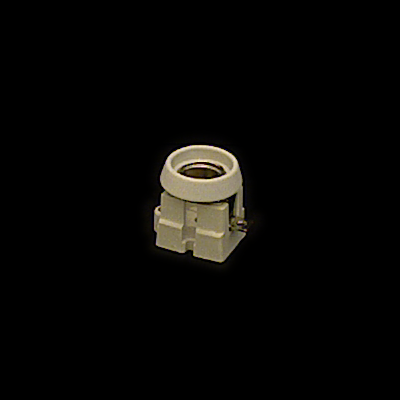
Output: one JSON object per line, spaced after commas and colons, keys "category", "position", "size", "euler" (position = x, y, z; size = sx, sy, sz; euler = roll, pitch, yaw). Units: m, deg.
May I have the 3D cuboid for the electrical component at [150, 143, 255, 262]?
{"category": "electrical component", "position": [0.000, 0.000, 0.643], "size": [0.066, 0.056, 0.048], "euler": [13, 36, 19]}
